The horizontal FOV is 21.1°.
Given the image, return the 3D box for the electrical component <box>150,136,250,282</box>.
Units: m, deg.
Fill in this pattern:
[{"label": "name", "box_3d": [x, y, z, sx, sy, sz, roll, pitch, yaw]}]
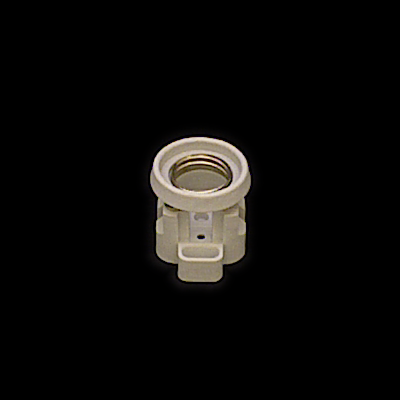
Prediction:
[{"label": "electrical component", "box_3d": [0.000, 0.000, 0.633, 0.058, 0.057, 0.077, 1, 42, 0]}]
